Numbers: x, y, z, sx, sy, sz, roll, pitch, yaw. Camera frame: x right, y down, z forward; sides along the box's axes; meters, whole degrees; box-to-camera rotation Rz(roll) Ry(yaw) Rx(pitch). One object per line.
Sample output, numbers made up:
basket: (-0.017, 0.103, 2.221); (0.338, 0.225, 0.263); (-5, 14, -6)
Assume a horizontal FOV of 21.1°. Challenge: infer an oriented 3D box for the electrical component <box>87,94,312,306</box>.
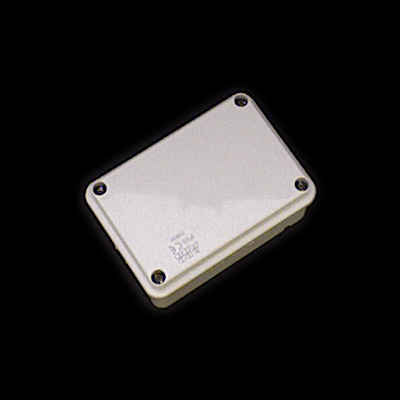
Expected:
electrical component: (0.000, 0.000, 0.626); (0.113, 0.078, 0.057); (-33, -14, -9)
